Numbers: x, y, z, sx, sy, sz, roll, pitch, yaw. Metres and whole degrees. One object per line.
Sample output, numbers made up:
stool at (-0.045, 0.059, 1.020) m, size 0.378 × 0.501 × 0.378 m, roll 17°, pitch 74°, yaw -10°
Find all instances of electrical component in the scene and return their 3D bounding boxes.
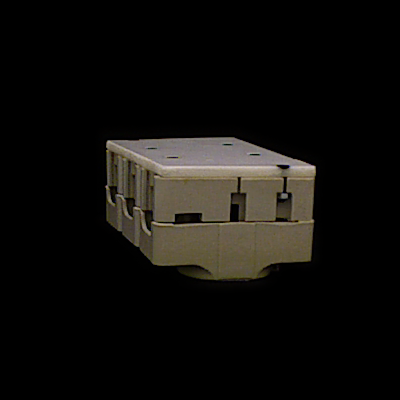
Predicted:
electrical component at (0.000, 0.000, 0.649) m, size 0.089 × 0.062 × 0.148 m, roll -2°, pitch 10°, yaw -15°
